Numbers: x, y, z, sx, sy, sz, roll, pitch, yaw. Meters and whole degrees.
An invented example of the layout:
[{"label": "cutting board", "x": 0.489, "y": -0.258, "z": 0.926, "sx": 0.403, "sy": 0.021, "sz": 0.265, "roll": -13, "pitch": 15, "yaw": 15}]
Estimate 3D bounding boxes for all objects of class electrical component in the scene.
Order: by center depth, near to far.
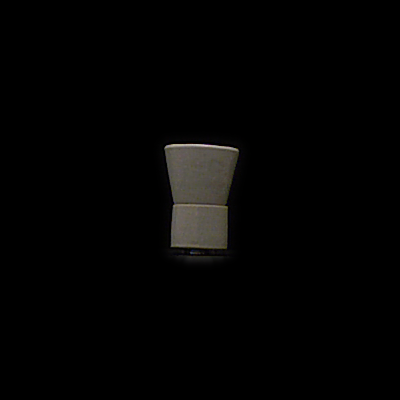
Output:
[{"label": "electrical component", "x": 0.000, "y": 0.000, "z": 0.652, "sx": 0.044, "sy": 0.065, "sz": 0.044, "roll": 2, "pitch": 0, "yaw": 0}]
